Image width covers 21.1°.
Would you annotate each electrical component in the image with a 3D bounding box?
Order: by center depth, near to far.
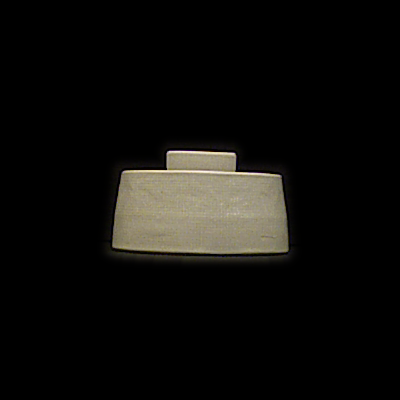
[{"bbox_3d":[0.000,0.000,0.657,0.108,0.060,0.108,1,1,1],"label":"electrical component"}]
